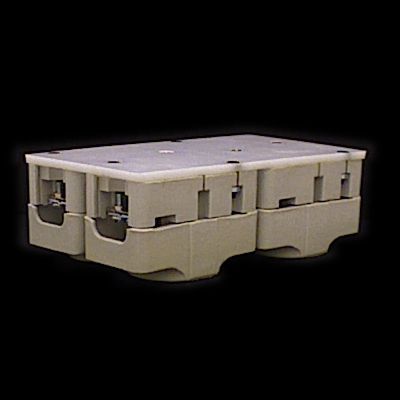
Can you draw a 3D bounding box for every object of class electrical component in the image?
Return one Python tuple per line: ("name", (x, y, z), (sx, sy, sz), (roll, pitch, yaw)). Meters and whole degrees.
("electrical component", (0.000, 0.000, 0.644), (0.186, 0.061, 0.105), (-8, 13, -42))
